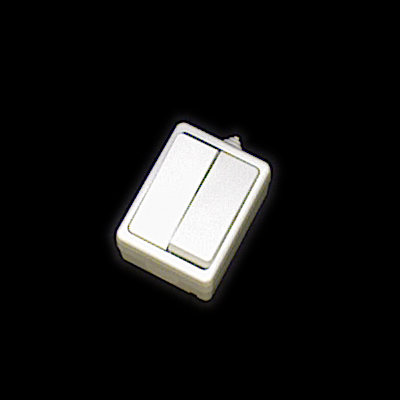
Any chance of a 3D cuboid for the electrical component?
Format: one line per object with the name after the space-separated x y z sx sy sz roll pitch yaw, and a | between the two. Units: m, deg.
0.000 0.000 0.627 0.062 0.096 0.060 27 -15 8 | electrical component
